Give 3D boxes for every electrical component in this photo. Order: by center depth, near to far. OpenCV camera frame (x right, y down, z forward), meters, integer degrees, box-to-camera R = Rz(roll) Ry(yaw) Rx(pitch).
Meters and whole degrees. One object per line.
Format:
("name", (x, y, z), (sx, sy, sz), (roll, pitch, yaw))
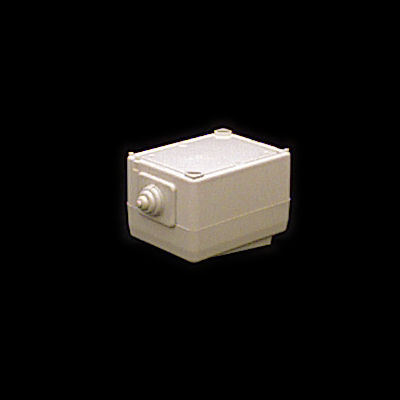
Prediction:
("electrical component", (0.000, 0.000, 0.640), (0.096, 0.061, 0.061), (-18, 28, -39))
